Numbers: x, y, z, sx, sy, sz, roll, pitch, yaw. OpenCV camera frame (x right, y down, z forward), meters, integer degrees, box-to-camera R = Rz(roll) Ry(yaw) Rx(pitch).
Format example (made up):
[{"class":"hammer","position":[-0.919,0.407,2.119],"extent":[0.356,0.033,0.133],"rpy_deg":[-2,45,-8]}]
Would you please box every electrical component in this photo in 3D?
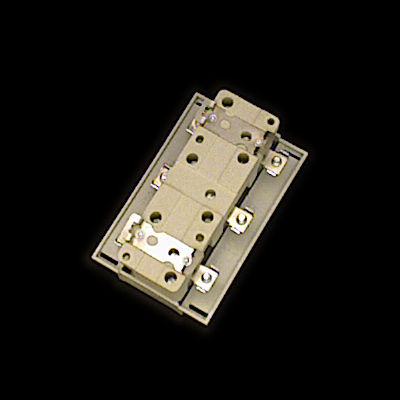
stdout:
[{"class":"electrical component","position":[0.000,0.000,0.634],"extent":[0.078,0.122,0.062],"rpy_deg":[29,-14,9]}]
